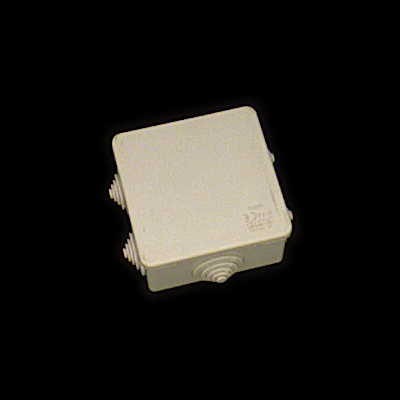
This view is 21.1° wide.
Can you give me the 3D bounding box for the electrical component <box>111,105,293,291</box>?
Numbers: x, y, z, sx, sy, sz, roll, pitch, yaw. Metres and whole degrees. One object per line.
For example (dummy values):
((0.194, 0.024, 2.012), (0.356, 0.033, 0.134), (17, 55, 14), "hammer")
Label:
((0.000, 0.000, 0.640), (0.100, 0.099, 0.048), (-12, -26, -7), "electrical component")
